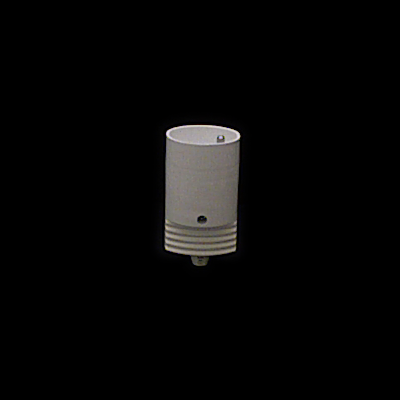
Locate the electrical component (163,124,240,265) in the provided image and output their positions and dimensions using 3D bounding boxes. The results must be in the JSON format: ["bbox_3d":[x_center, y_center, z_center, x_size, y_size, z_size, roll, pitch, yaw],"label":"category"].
[{"bbox_3d":[0.000,0.000,0.637,0.043,0.082,0.042,2,22,0],"label":"electrical component"}]
